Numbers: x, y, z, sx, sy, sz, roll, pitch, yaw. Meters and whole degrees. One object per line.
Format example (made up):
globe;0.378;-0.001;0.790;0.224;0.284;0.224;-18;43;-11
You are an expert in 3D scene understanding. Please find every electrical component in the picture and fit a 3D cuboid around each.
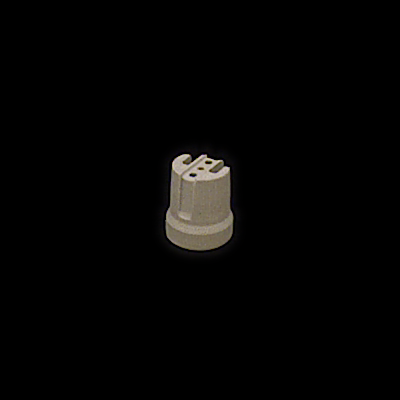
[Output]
electrical component;0.000;0.000;0.639;0.040;0.046;0.040;1;32;0
